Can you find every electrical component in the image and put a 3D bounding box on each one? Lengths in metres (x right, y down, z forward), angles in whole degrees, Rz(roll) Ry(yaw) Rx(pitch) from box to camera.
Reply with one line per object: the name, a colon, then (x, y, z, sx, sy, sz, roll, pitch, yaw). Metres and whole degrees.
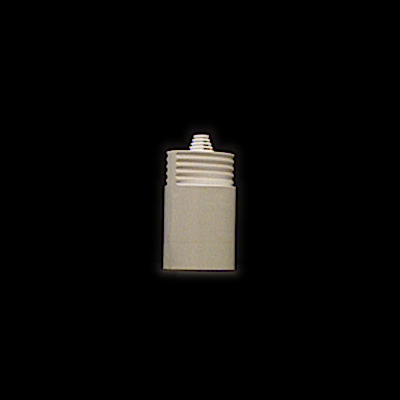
electrical component: (0.000, 0.000, 0.650, 0.043, 0.081, 0.043, 1, 1, 0)
